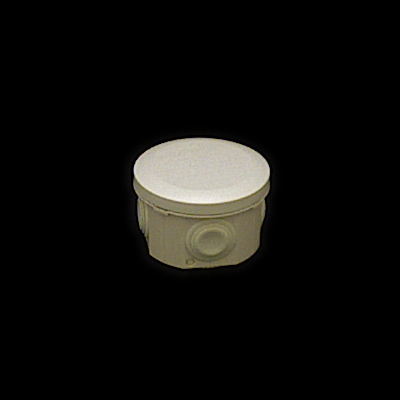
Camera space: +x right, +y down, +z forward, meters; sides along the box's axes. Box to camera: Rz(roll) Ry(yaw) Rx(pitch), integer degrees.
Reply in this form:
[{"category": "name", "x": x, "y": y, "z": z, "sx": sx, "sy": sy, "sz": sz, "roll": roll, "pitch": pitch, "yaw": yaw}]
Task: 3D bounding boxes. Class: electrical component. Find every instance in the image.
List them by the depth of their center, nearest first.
[{"category": "electrical component", "x": 0.000, "y": 0.000, "z": 0.638, "sx": 0.080, "sy": 0.051, "sz": 0.079, "roll": 1, "pitch": 31, "yaw": 0}]
